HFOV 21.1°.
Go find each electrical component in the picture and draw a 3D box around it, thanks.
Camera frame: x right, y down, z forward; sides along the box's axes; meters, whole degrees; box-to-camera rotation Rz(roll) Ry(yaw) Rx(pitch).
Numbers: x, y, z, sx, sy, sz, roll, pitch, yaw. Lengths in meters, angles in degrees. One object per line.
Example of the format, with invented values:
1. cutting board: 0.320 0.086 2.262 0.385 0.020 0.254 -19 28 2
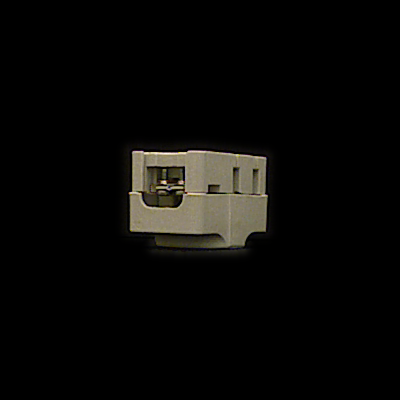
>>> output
1. electrical component: 0.000 0.000 0.657 0.050 0.056 0.090 2 0 29
